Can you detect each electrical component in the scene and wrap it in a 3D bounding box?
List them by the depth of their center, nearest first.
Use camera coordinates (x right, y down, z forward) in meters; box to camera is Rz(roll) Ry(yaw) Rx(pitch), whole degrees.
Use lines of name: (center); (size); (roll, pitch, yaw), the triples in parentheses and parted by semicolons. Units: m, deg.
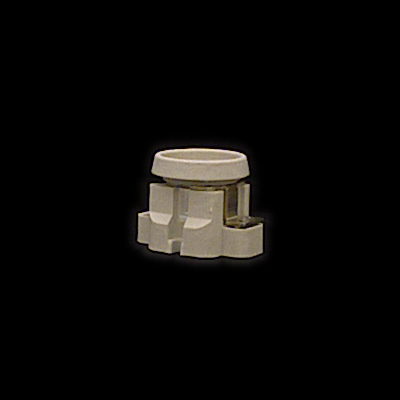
electrical component: (0.000, 0.000, 0.644); (0.078, 0.057, 0.057); (8, 13, 31)
